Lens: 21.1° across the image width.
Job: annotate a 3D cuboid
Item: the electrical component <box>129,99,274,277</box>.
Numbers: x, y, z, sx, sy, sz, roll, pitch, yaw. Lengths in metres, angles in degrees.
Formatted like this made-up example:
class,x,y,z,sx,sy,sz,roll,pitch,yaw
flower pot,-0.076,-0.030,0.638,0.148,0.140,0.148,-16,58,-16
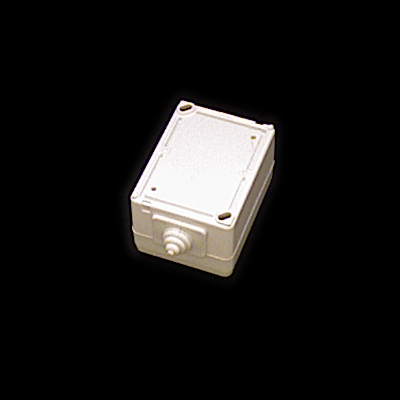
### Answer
class,x,y,z,sx,sy,sz,roll,pitch,yaw
electrical component,0.000,0.000,0.629,0.061,0.096,0.061,16,-35,12
